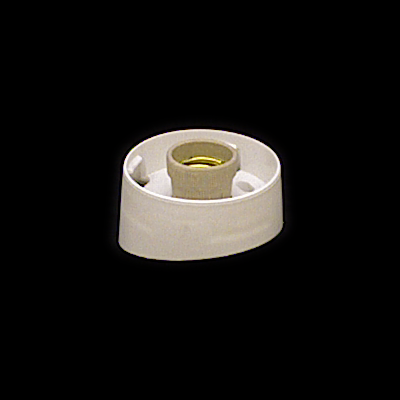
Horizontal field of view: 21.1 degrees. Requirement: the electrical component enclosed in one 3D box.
[{"bbox_3d":[0.000,0.000,0.633,0.099,0.065,0.097,1,31,0],"label":"electrical component"}]
